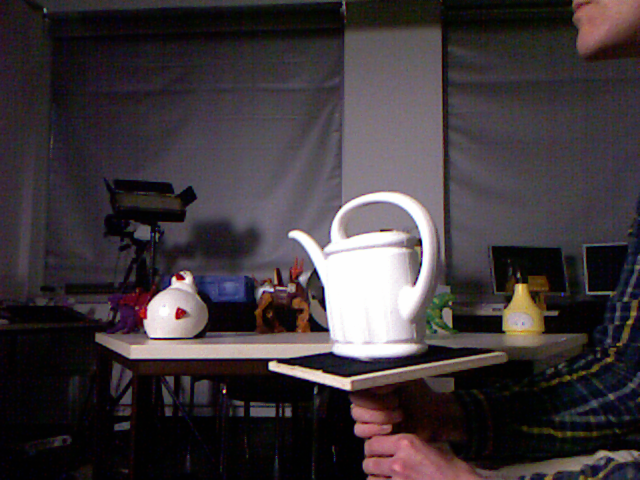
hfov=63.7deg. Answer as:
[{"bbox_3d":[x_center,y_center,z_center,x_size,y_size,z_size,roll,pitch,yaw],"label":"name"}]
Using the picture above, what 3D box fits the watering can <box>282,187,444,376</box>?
[{"bbox_3d":[0.042,0.054,0.662,0.105,0.227,0.348,-3,-4,-28],"label":"watering can"}]
